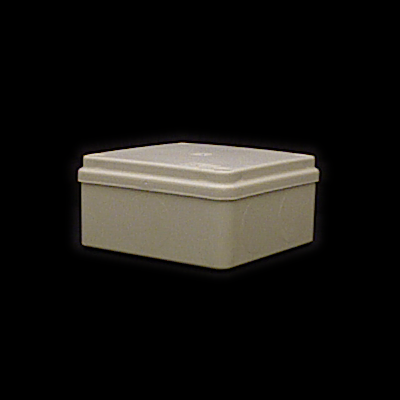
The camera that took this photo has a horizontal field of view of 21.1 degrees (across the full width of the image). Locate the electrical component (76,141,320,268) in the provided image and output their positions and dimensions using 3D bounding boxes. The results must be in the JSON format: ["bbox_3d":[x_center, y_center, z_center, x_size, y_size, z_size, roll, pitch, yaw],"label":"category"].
[{"bbox_3d":[0.000,0.000,0.647,0.108,0.056,0.108,8,12,34],"label":"electrical component"}]
